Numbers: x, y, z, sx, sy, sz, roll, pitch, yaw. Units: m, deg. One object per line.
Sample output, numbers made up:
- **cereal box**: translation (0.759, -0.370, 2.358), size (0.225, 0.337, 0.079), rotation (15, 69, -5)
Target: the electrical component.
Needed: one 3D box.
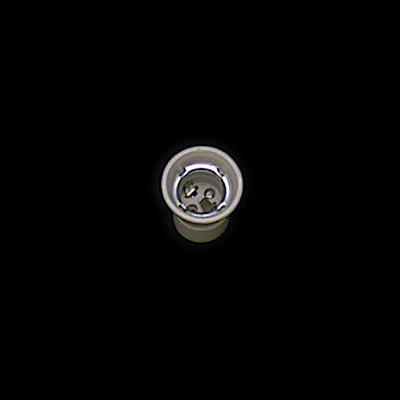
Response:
- **electrical component**: translation (0.000, 0.000, 0.625), size (0.044, 0.044, 0.065), rotation (0, -18, 0)
